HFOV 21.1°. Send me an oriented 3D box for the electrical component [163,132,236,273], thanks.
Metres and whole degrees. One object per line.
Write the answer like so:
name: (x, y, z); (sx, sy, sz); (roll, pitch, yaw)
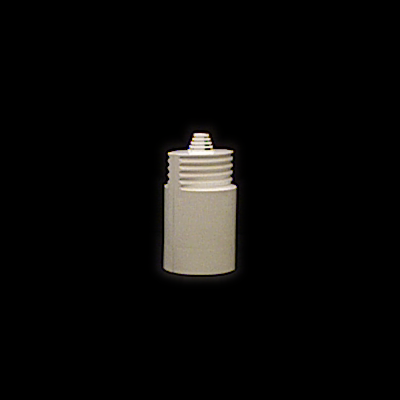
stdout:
electrical component: (0.000, 0.000, 0.643); (0.043, 0.081, 0.043); (1, 11, 0)
